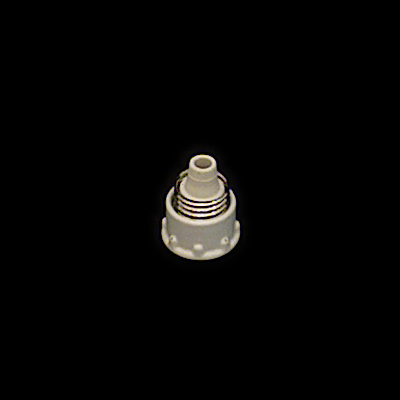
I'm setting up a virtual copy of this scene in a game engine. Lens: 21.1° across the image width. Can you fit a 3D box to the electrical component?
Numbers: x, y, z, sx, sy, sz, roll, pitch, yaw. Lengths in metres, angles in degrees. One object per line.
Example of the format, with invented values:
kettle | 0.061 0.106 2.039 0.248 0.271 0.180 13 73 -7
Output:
electrical component | 0.000 0.000 0.638 0.048 0.062 0.047 1 43 -1
